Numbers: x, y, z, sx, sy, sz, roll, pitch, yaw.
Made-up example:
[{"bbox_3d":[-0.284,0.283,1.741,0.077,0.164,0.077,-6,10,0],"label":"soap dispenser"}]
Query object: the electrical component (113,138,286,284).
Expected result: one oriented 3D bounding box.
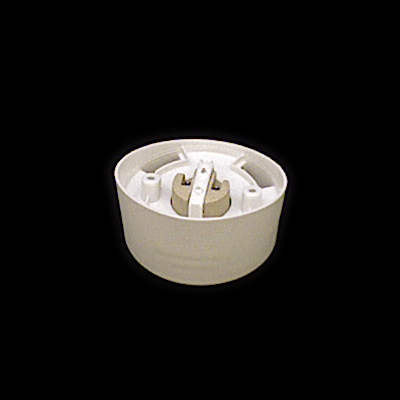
[{"bbox_3d":[0.000,0.000,0.628,0.099,0.065,0.098,1,43,0],"label":"electrical component"}]
